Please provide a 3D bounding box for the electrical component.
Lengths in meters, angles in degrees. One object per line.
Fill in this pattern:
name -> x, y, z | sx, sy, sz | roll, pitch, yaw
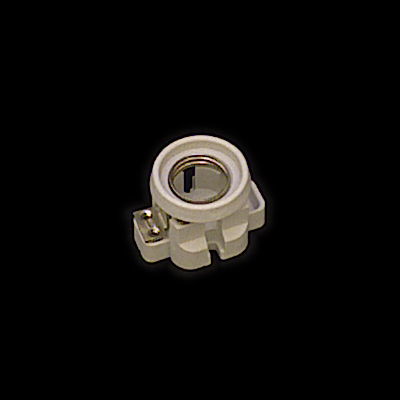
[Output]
electrical component -> 0.000, 0.000, 0.628 | 0.079, 0.057, 0.057 | -18, -35, -14
